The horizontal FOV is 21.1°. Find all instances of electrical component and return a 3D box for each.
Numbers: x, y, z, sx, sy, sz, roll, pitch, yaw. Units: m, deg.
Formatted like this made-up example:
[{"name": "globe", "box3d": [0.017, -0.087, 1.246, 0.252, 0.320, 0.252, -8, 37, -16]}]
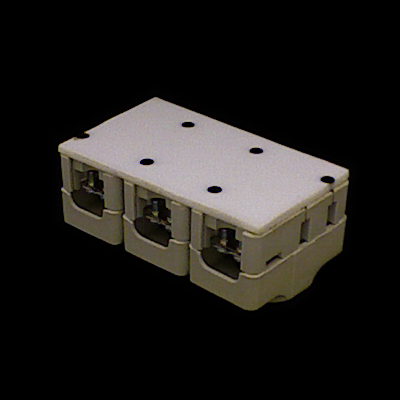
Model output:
[{"name": "electrical component", "box3d": [0.000, 0.000, 0.640, 0.149, 0.063, 0.088, 24, 38, 33]}]
